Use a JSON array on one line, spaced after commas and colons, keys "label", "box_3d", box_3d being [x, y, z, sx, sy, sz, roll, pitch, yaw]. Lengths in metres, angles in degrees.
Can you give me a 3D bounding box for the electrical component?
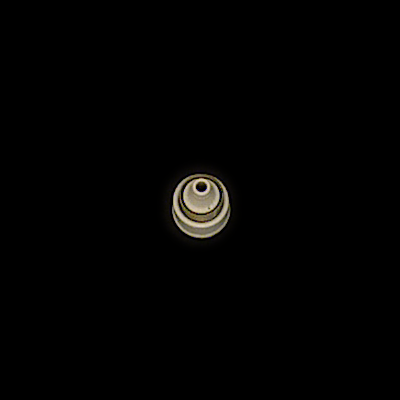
[{"label": "electrical component", "box_3d": [0.000, 0.000, 0.637, 0.035, 0.035, 0.061, 0, -15, 0]}]
